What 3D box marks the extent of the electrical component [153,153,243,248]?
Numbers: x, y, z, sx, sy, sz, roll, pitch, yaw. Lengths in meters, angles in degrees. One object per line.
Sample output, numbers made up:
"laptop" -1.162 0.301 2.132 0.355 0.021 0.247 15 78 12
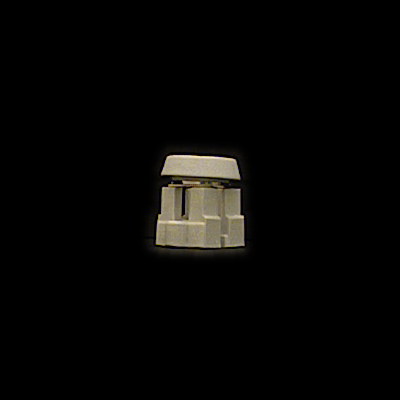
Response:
"electrical component" 0.000 0.000 0.658 0.048 0.055 0.067 5 3 35
